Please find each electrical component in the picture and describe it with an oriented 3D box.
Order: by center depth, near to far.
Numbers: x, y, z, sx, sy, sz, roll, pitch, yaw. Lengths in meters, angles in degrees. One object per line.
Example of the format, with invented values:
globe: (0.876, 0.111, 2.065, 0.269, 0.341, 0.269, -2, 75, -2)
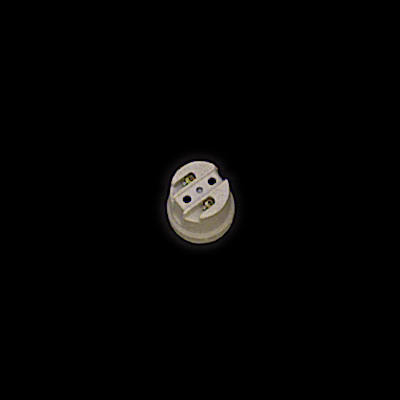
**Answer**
electrical component: (0.000, 0.000, 0.633, 0.040, 0.040, 0.046, 0, -17, 0)
